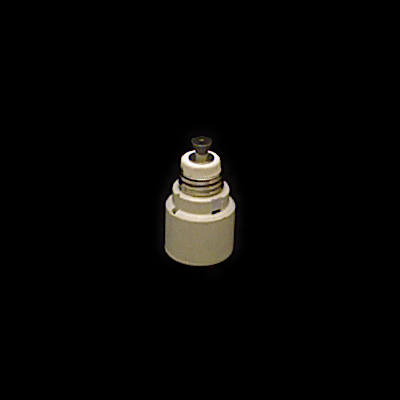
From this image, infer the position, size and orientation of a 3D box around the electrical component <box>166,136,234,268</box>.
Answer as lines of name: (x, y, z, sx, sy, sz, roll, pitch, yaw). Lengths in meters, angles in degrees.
electrical component: (0.000, 0.000, 0.629, 0.040, 0.079, 0.039, 1, 30, 0)
